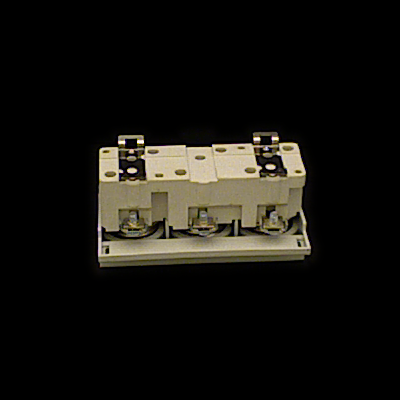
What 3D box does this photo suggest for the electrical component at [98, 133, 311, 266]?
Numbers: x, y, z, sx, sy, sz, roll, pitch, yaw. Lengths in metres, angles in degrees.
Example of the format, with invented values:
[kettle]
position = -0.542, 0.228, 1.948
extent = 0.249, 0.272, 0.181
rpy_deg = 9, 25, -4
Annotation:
[electrical component]
position = 0.000, 0.000, 0.639
extent = 0.122, 0.064, 0.077
rpy_deg = -2, 33, -4
